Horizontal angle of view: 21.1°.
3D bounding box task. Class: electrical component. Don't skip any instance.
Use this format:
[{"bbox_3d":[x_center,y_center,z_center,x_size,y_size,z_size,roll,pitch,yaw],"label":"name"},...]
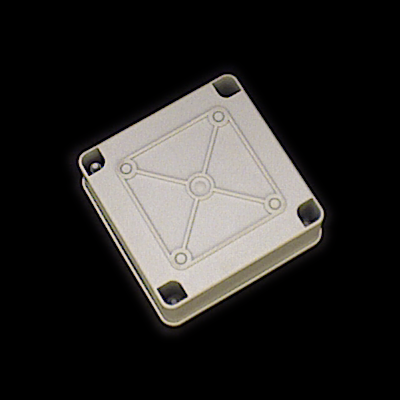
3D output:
[{"bbox_3d":[0.000,0.000,0.627,0.109,0.109,0.056,-30,-15,-8],"label":"electrical component"}]
